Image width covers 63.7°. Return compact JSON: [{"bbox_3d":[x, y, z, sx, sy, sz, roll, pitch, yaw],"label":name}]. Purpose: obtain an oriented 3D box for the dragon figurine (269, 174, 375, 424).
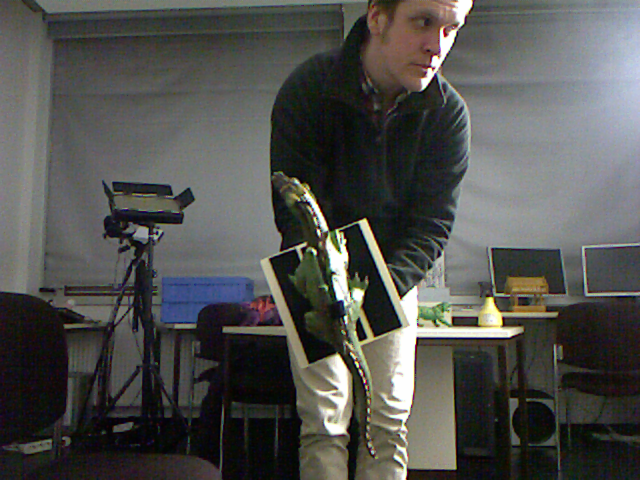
[{"bbox_3d":[0.016,0.092,0.762,0.122,0.414,0.242,-21,-8,2],"label":"dragon figurine"}]
